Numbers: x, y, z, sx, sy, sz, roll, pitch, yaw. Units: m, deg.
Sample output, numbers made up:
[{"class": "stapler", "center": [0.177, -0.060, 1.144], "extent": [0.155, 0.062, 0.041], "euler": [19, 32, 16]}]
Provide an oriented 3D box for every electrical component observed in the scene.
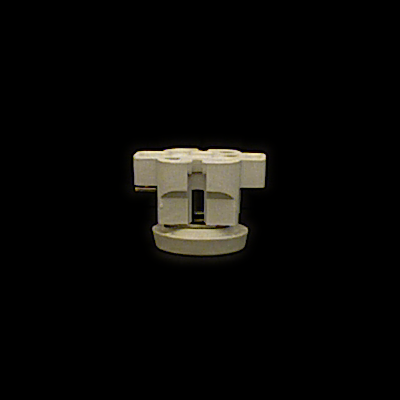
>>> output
[{"class": "electrical component", "center": [0.000, 0.000, 0.650], "extent": [0.078, 0.057, 0.057], "euler": [0, 12, 2]}]
